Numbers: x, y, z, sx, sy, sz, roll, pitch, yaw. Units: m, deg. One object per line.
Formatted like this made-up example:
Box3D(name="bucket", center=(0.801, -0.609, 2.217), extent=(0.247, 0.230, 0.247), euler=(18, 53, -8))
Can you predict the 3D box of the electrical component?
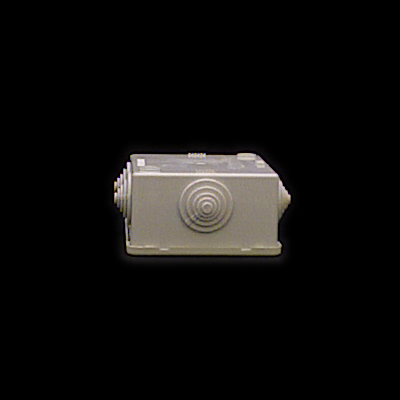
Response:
Box3D(name="electrical component", center=(0.000, 0.000, 0.646), extent=(0.100, 0.049, 0.099), euler=(1, 10, -5))
